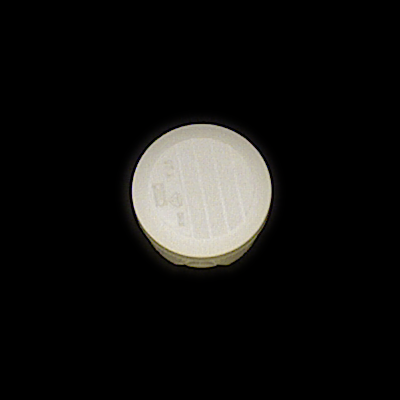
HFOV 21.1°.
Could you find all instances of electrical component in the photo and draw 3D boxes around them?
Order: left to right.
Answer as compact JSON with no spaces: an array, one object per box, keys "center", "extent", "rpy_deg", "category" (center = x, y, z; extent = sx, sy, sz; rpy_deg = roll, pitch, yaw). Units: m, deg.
[{"center":[0.000,0.000,0.631],"extent":[0.080,0.080,0.050],"rpy_deg":[0,-17,0],"category":"electrical component"}]
